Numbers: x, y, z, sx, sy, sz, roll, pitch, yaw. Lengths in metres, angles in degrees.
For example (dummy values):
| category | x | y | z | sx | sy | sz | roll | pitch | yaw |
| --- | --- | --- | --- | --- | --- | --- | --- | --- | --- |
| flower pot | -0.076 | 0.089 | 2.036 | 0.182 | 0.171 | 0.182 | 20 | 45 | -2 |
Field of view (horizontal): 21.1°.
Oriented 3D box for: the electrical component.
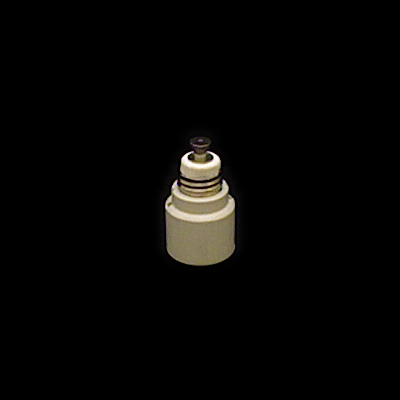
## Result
| category | x | y | z | sx | sy | sz | roll | pitch | yaw |
| --- | --- | --- | --- | --- | --- | --- | --- | --- | --- |
| electrical component | 0.000 | 0.000 | 0.630 | 0.040 | 0.079 | 0.039 | 0 | 32 | 0 |
